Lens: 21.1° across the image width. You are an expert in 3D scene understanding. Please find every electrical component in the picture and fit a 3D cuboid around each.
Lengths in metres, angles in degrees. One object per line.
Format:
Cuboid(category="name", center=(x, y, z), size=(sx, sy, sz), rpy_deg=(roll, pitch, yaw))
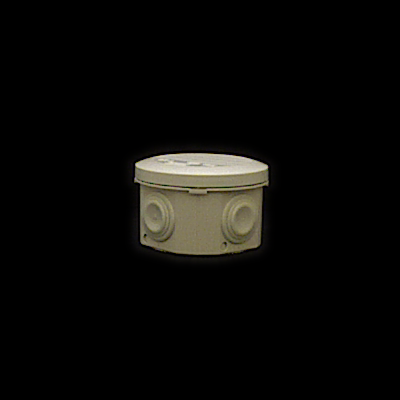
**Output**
Cuboid(category="electrical component", center=(0.000, 0.000, 0.646), size=(0.080, 0.051, 0.079), rpy_deg=(1, 10, 0))
